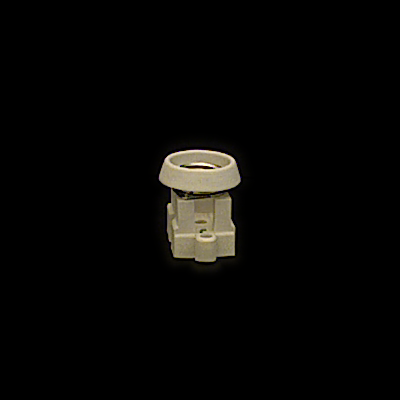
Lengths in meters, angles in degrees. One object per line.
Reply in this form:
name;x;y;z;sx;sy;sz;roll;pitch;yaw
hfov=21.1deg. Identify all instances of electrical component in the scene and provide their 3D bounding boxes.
electrical component;0.000;0.000;0.647;0.048;0.056;0.065;-1;22;-10
